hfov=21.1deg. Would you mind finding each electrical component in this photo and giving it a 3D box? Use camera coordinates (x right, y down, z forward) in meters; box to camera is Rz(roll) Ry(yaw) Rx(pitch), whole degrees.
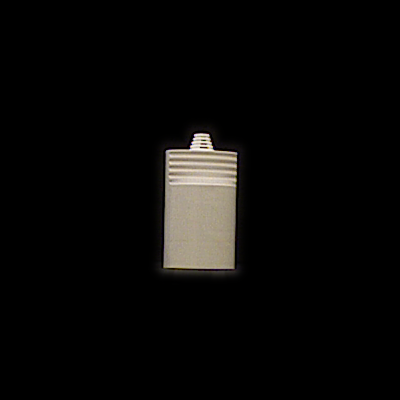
[{"bbox_3d":[0.000,0.000,0.650,0.043,0.081,0.043,1,1,0],"label":"electrical component"}]
